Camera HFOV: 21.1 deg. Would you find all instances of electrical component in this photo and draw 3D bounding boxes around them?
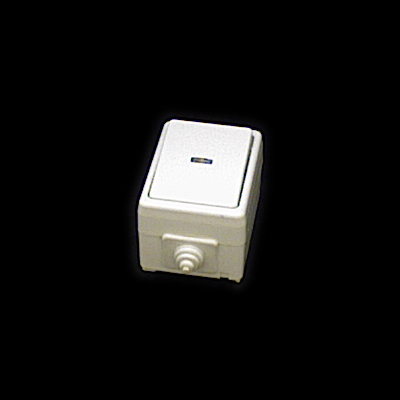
[{"bbox_3d":[0.000,0.000,0.628,0.061,0.061,0.095,7,42,7],"label":"electrical component"}]
